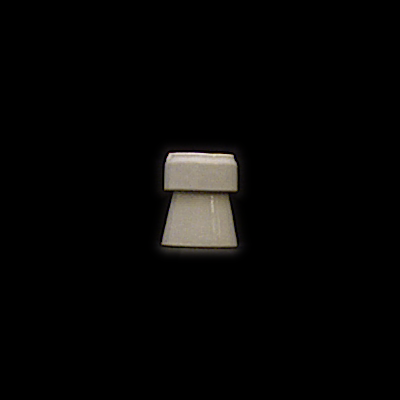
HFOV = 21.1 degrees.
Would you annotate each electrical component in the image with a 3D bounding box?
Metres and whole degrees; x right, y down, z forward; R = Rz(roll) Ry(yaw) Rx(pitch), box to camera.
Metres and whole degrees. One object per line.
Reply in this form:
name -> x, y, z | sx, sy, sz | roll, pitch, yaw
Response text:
electrical component -> 0.000, 0.000, 0.648 | 0.045, 0.055, 0.044 | 1, 1, 0
